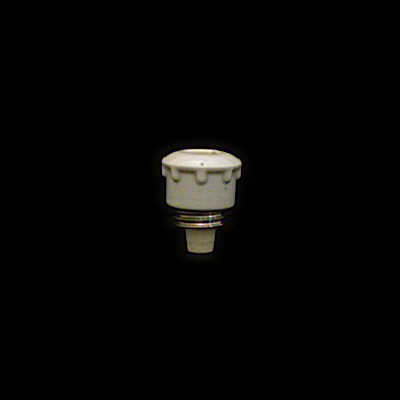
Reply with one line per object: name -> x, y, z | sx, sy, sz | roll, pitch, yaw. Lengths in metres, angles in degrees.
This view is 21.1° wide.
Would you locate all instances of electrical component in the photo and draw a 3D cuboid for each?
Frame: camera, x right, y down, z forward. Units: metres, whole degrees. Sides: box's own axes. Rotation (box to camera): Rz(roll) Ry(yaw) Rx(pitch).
electrical component -> 0.000, 0.000, 0.653 | 0.048, 0.062, 0.048 | 1, 11, 0
